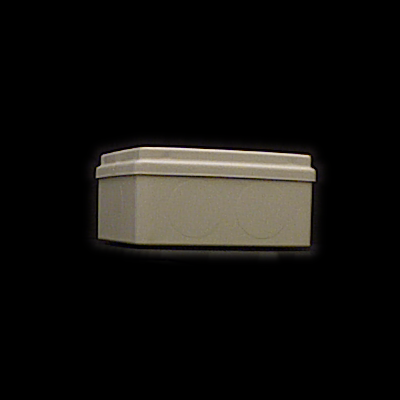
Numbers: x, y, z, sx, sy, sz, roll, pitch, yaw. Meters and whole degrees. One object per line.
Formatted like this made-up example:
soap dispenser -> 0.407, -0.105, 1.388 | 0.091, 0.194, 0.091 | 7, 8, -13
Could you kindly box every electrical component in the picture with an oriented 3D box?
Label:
electrical component -> 0.000, 0.000, 0.651 | 0.109, 0.056, 0.108 | 2, 0, -19
